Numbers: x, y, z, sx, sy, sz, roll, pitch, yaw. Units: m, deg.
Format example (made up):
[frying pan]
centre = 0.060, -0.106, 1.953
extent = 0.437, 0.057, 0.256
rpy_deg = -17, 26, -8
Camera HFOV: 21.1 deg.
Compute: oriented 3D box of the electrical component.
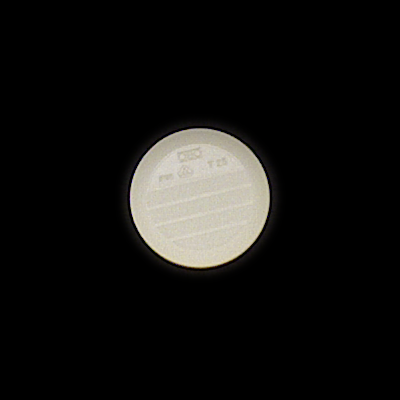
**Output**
[electrical component]
centre = 0.000, 0.000, 0.631
extent = 0.080, 0.080, 0.050
rpy_deg = 0, -7, 0
